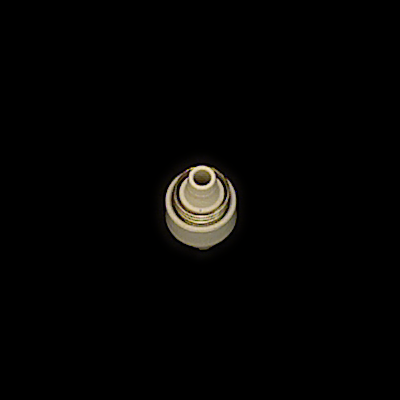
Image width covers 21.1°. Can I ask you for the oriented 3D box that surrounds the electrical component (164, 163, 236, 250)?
[{"bbox_3d":[0.000,0.000,0.633,0.043,0.043,0.062,0,-26,-1],"label":"electrical component"}]
